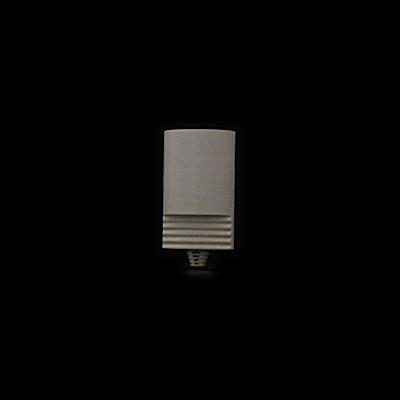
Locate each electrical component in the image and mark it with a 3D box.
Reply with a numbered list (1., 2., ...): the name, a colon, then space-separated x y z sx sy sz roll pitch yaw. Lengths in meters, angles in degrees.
1. electrical component: 0.000 0.000 0.647 0.043 0.081 0.043 1 0 0
